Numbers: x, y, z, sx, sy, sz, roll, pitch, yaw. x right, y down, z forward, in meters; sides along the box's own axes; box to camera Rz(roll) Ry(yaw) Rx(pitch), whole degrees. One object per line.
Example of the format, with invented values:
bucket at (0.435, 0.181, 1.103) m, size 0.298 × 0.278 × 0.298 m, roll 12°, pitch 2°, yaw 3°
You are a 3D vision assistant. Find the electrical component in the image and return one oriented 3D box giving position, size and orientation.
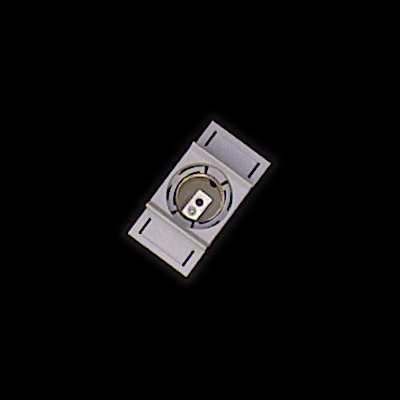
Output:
electrical component at (0.000, 0.000, 0.624) m, size 0.042 × 0.081 × 0.063 m, roll 37°, pitch -5°, yaw 3°
